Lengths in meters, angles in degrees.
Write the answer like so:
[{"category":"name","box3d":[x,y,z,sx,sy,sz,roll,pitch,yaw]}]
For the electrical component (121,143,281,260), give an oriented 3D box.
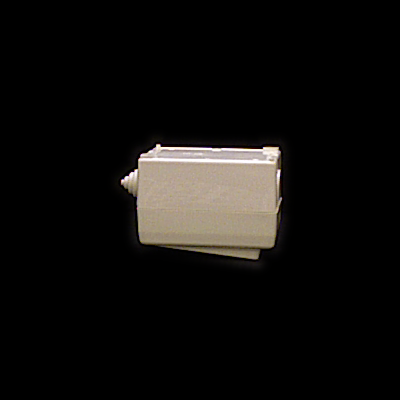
[{"category":"electrical component","box3d":[0.000,0.000,0.647,0.096,0.061,0.061,2,11,6]}]
